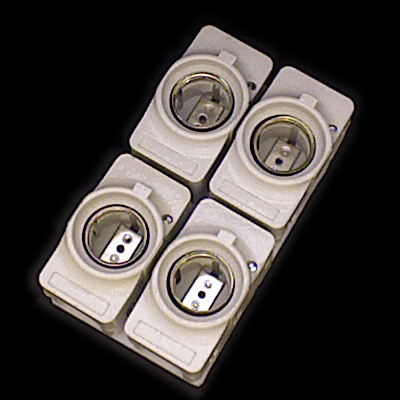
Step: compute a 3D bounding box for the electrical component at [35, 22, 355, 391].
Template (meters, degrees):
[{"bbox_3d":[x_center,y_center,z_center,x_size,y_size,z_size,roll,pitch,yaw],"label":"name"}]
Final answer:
[{"bbox_3d":[0.000,0.000,0.625,0.105,0.187,0.060,29,-15,9],"label":"electrical component"}]
